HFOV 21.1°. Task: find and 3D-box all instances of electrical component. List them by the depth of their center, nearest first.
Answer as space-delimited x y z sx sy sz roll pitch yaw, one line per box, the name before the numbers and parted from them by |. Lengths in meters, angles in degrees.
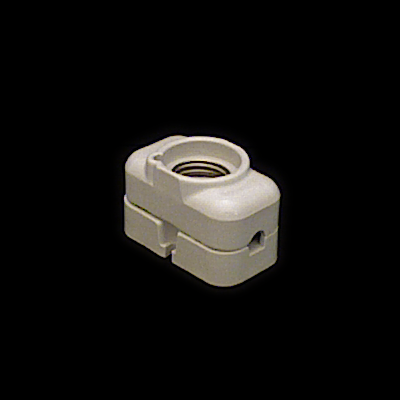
electrical component | 0.000 0.000 0.640 0.094 0.060 0.054 28 41 36
